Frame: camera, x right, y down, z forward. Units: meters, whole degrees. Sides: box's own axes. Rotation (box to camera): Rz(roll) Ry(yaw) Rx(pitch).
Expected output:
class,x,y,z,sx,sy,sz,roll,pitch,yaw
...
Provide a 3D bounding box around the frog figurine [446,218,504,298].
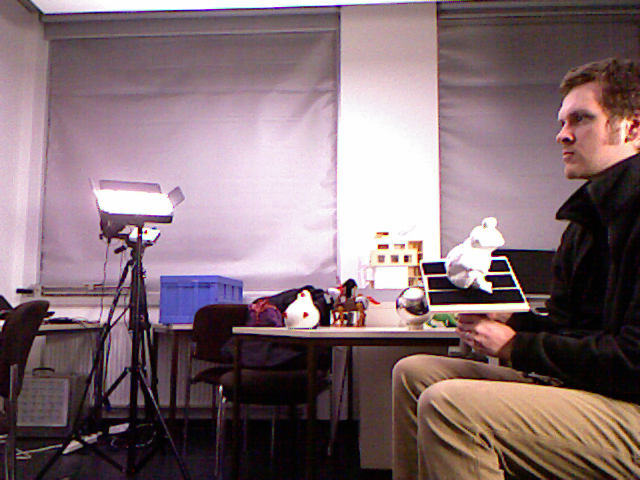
class,x,y,z,sx,sy,sz,roll,pitch,yaw
frog figurine,0.342,0.029,1.147,0.123,0.156,0.140,10,35,26
